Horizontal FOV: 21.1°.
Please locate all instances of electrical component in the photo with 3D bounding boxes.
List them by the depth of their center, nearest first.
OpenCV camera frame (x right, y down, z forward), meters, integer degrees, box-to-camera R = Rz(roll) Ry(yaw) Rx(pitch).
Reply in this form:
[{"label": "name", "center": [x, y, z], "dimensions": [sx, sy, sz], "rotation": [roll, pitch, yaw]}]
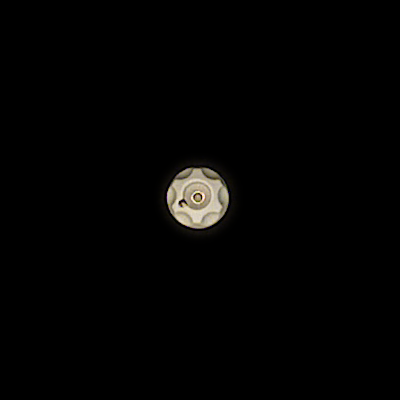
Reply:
[{"label": "electrical component", "center": [0.000, 0.000, 0.634], "dimensions": [0.035, 0.035, 0.061], "rotation": [0, -5, 1]}]
